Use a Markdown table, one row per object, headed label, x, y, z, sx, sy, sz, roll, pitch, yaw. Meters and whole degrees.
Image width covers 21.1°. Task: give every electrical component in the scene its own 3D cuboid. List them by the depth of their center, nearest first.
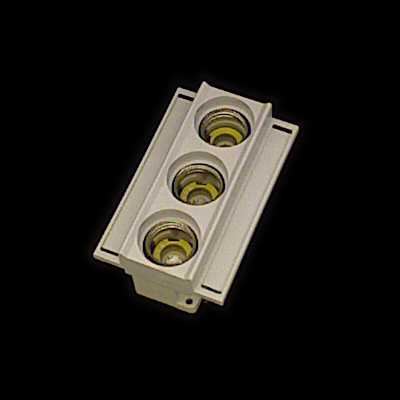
| label | x | y | z | sx | sy | sz | roll | pitch | yaw |
| --- | --- | --- | --- | --- | --- | --- | --- | --- | --- |
| electrical component | 0.000 | 0.000 | 0.637 | 0.078 | 0.121 | 0.063 | 20 | -25 | 12 |
